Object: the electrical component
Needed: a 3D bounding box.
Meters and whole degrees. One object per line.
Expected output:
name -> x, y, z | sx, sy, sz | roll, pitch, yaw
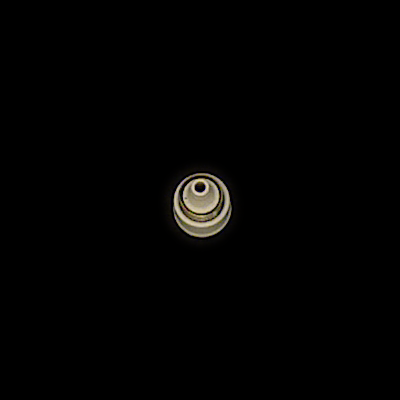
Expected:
electrical component -> 0.000, 0.000, 0.637 | 0.035, 0.035, 0.061 | 0, -15, 2
